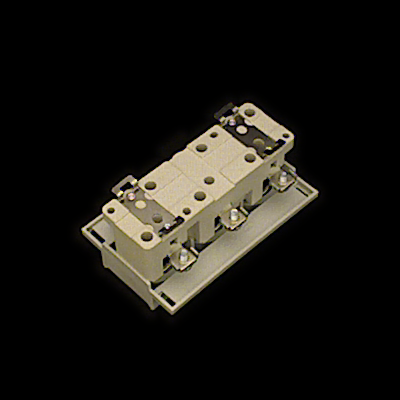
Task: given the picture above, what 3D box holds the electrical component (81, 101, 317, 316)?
[{"bbox_3d":[0.000,0.000,0.636,0.122,0.063,0.078,-38,61,-25],"label":"electrical component"}]
